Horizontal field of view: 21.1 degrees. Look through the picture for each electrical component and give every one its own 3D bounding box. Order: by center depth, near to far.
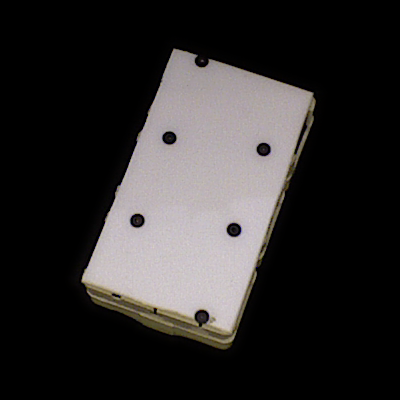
[{"bbox_3d":[0.000,0.000,0.631,0.089,0.150,0.062,19,-16,6],"label":"electrical component"}]
